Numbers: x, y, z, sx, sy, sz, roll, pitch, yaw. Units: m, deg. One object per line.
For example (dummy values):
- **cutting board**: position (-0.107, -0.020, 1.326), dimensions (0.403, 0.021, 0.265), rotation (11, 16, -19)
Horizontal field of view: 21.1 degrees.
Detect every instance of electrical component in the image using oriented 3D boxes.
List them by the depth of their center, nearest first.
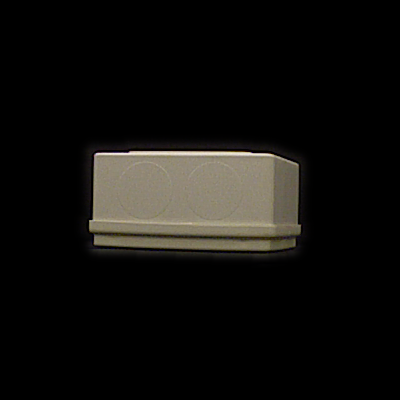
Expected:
- **electrical component**: position (0.000, 0.000, 0.651), dimensions (0.108, 0.056, 0.109), rotation (1, -1, 13)
